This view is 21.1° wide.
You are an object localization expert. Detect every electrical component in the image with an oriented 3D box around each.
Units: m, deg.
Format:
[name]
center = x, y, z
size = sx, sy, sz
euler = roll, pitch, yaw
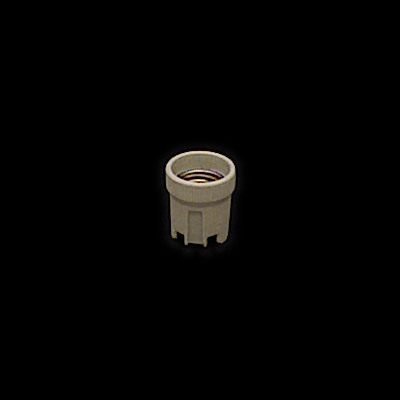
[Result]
[electrical component]
center = 0.000, 0.000, 0.634
size = 0.040, 0.047, 0.039
euler = 1, 32, 0
